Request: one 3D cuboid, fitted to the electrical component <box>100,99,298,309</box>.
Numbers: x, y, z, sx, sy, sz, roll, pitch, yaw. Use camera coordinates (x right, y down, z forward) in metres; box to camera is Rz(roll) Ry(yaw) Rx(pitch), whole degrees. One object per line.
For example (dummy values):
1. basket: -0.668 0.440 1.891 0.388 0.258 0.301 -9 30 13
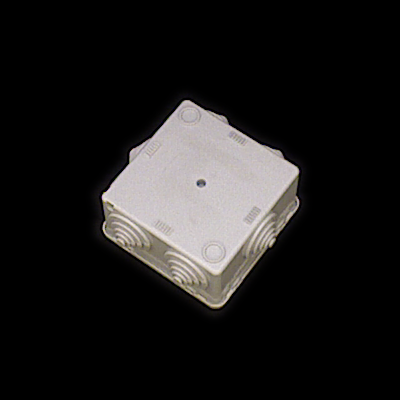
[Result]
1. electrical component: 0.000 0.000 0.631 0.099 0.100 0.048 33 -22 15
